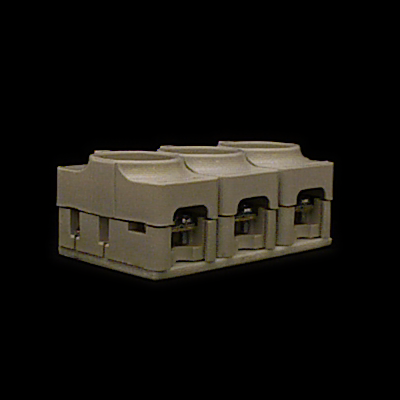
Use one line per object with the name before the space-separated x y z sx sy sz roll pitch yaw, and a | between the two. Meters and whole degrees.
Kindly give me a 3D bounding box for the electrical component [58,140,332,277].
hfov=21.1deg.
electrical component | 0.000 0.000 0.651 0.150 0.062 0.089 -7 13 -44
